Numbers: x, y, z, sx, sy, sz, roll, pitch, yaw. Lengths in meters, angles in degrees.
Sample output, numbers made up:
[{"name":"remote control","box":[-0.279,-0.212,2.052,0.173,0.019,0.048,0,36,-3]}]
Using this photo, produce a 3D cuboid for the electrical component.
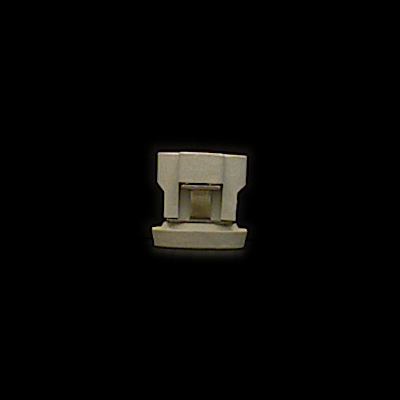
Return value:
[{"name":"electrical component","box":[0.000,0.000,0.655,0.058,0.057,0.078,2,2,0]}]
